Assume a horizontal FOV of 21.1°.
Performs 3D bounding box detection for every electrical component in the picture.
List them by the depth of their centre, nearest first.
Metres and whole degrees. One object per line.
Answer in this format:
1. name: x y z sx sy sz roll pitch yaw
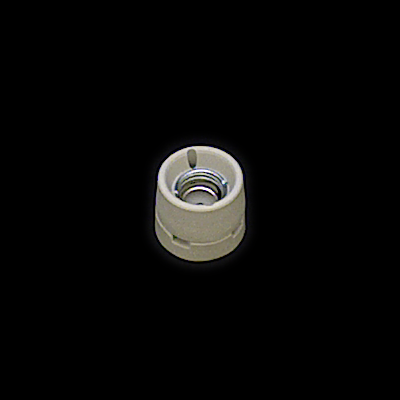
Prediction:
1. electrical component: 0.000 0.000 0.635 0.055 0.055 0.047 0 -39 -1
